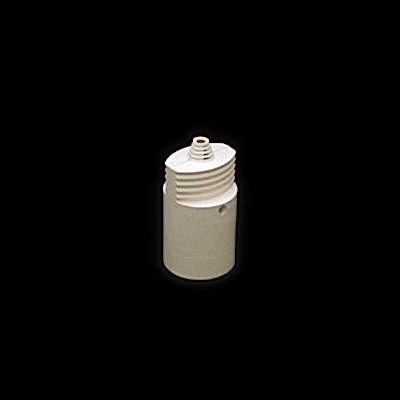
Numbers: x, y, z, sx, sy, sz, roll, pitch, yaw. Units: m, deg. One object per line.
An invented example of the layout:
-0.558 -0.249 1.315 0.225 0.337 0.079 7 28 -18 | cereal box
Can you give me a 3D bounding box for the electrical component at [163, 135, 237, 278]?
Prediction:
0.000 0.000 0.628 0.043 0.082 0.042 1 31 0 | electrical component
